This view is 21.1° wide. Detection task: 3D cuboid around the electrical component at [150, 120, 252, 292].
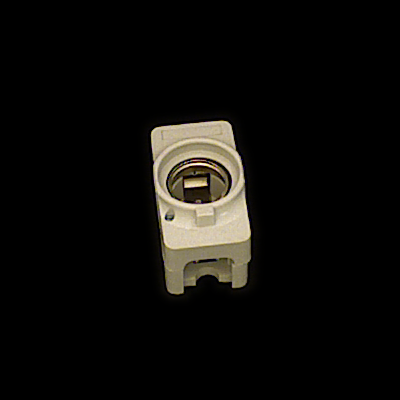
[{"bbox_3d":[0.000,0.000,0.637,0.050,0.089,0.056,-6,-37,-5],"label":"electrical component"}]
